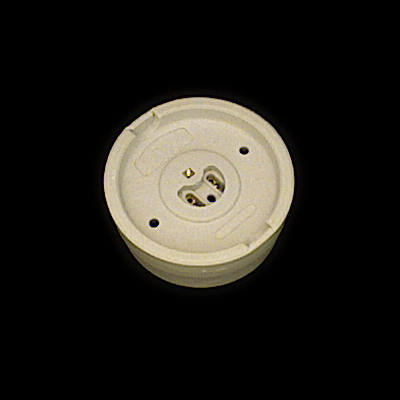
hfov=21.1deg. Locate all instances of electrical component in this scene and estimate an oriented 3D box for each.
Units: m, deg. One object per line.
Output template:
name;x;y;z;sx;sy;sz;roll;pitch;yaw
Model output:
electrical component;0.000;0.000;0.634;0.108;0.108;0.060;0;-26;-1
